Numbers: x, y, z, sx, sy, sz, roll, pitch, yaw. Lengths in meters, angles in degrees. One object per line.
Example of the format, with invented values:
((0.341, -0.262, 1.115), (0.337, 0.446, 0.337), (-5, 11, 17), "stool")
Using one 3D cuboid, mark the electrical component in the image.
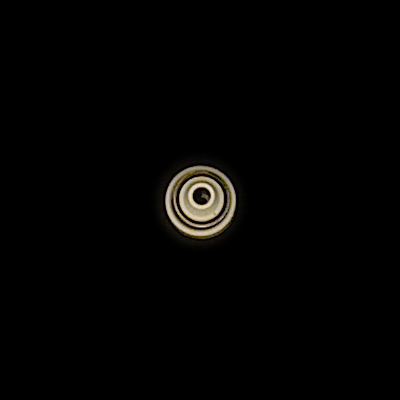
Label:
((0.000, 0.000, 0.635), (0.043, 0.043, 0.062), (0, -6, 0), "electrical component")
